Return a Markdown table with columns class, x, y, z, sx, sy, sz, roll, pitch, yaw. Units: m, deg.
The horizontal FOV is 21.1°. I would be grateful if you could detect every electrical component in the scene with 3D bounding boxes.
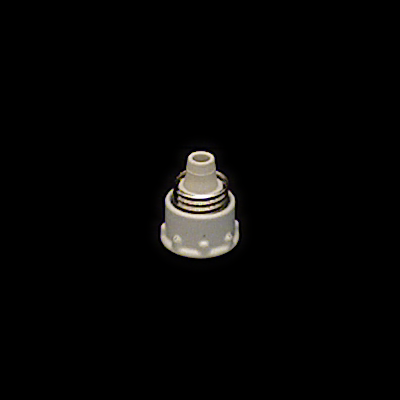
| class | x | y | z | sx | sy | sz | roll | pitch | yaw |
| --- | --- | --- | --- | --- | --- | --- | --- | --- | --- |
| electrical component | 0.000 | 0.000 | 0.640 | 0.048 | 0.063 | 0.047 | 1 | 33 | 0 |
